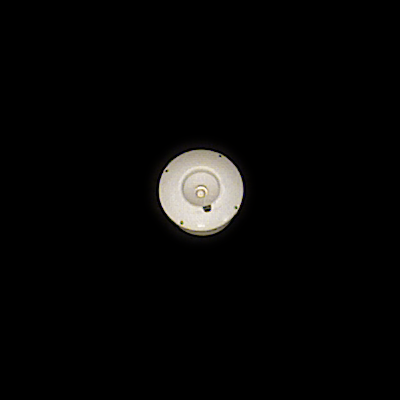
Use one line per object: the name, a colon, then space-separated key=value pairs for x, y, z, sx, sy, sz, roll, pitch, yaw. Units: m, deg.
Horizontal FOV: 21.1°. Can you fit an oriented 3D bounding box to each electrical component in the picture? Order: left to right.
electrical component: x=0.000 y=0.000 z=0.633 sx=0.048 sy=0.048 sz=0.061 roll=0 pitch=-16 yaw=1
